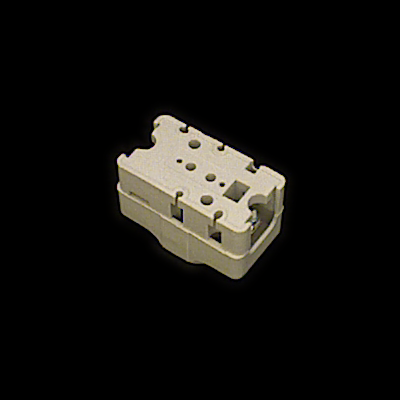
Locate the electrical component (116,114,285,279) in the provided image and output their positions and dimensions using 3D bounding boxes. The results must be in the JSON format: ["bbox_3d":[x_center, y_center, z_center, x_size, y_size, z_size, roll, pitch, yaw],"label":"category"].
[{"bbox_3d":[0.000,0.000,0.637,0.089,0.050,0.056,30,-32,20],"label":"electrical component"}]
